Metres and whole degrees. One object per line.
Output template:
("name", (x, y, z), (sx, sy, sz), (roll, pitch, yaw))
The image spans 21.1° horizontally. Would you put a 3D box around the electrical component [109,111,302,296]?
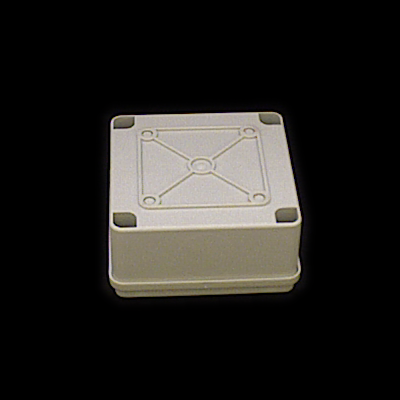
("electrical component", (0.000, 0.000, 0.634), (0.109, 0.057, 0.107), (-1, 41, -3))
